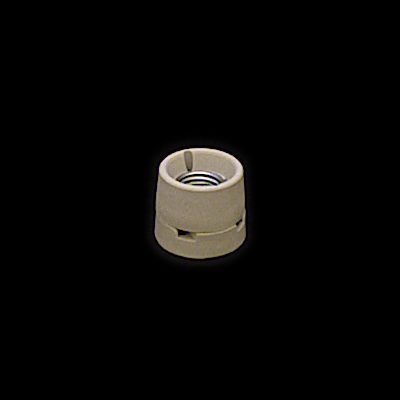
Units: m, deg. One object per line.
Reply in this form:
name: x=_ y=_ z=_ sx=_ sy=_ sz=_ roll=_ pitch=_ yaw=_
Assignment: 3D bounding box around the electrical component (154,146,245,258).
electrical component: x=0.000 y=0.000 z=0.636 sx=0.055 sy=0.047 sz=0.055 roll=1 pitch=33 yaw=0
